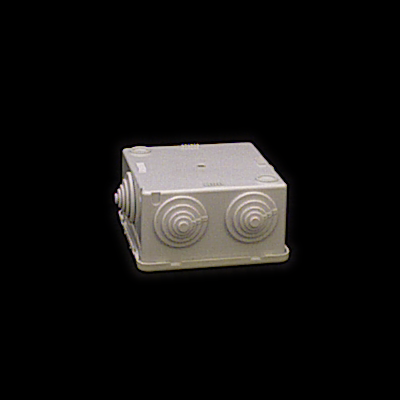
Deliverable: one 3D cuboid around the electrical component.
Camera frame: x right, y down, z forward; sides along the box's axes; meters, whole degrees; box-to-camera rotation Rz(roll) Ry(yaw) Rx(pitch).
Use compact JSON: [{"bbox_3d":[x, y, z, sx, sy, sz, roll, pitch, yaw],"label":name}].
[{"bbox_3d":[0.000,0.000,0.640,0.100,0.049,0.098,-3,21,-12],"label":"electrical component"}]
